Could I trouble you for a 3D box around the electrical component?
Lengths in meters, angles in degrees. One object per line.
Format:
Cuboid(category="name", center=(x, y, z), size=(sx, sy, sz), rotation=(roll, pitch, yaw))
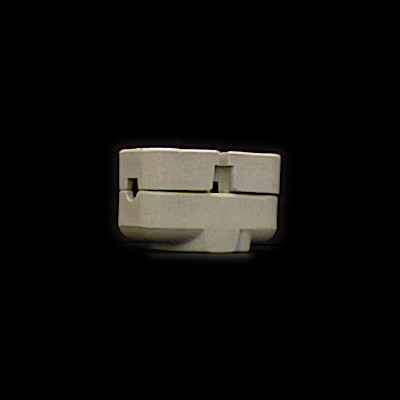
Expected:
Cuboid(category="electrical component", center=(0.000, 0.000, 0.656), size=(0.096, 0.059, 0.053), rotation=(2, 1, -33))
